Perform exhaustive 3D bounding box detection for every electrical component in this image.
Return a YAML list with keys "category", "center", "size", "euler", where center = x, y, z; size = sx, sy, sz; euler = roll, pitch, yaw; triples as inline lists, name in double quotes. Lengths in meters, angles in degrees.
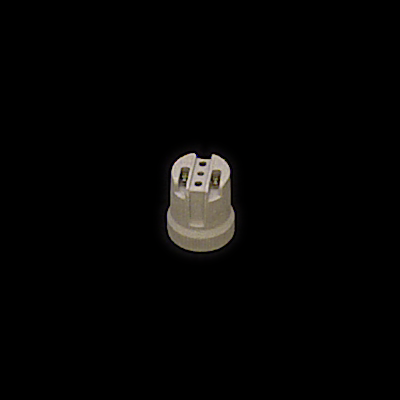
- category: "electrical component"
  center: [0.000, 0.000, 0.635]
  size: [0.040, 0.046, 0.040]
  euler: [0, 42, 0]
